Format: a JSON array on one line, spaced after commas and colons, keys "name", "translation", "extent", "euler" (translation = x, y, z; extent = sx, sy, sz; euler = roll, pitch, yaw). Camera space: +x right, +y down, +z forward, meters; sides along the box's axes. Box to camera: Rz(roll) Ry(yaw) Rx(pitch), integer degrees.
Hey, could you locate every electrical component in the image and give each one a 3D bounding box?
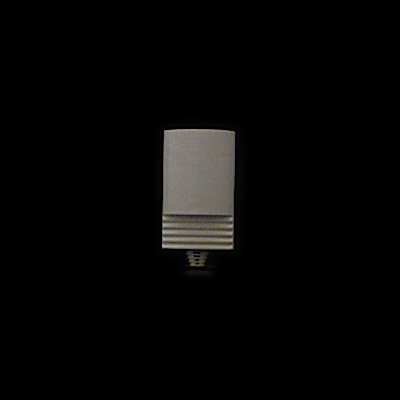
[{"name": "electrical component", "translation": [0.000, 0.000, 0.647], "extent": [0.043, 0.081, 0.043], "euler": [1, 0, 0]}]
